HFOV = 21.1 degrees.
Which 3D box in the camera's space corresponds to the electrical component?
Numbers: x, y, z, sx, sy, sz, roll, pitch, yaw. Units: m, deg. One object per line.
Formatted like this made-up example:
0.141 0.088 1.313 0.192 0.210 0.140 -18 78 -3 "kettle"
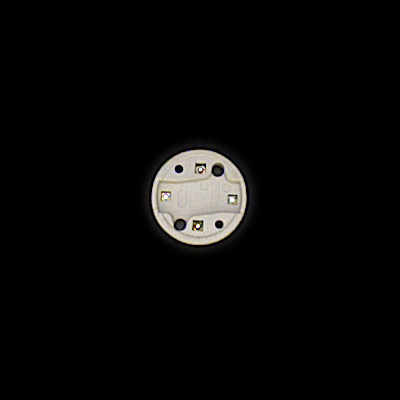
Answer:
0.000 0.000 0.636 0.055 0.055 0.047 0 -6 0 "electrical component"
